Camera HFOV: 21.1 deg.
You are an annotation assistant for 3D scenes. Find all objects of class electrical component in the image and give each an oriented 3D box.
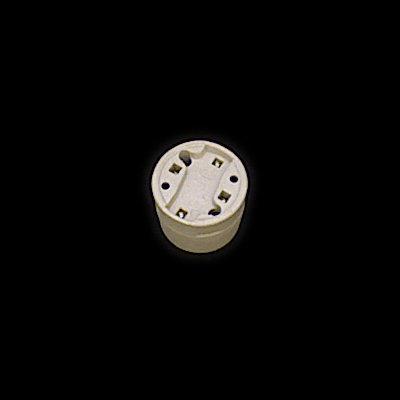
[{"bbox_3d":[0.000,0.000,0.633,0.055,0.056,0.047,0,-27,0],"label":"electrical component"}]
